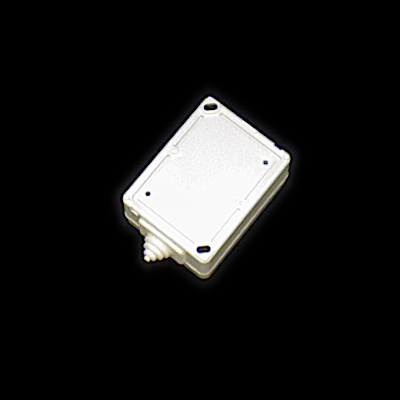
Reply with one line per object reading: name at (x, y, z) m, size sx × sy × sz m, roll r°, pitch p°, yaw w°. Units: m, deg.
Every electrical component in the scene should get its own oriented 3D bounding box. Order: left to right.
electrical component at (0.000, 0.000, 0.623) m, size 0.062 × 0.097 × 0.060 m, roll 37°, pitch -14°, yaw 10°
